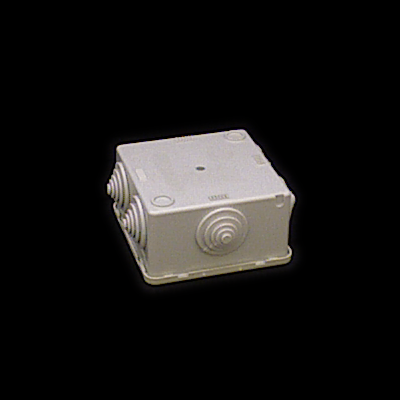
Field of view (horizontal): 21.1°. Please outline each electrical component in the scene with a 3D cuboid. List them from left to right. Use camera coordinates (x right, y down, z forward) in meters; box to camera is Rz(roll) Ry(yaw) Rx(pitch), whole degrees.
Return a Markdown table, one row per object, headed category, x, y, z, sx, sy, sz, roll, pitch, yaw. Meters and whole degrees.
| category | x | y | z | sx | sy | sz | roll | pitch | yaw |
| --- | --- | --- | --- | --- | --- | --- | --- | --- | --- |
| electrical component | 0.000 | 0.000 | 0.636 | 0.100 | 0.049 | 0.098 | -8 | 33 | -15 |
